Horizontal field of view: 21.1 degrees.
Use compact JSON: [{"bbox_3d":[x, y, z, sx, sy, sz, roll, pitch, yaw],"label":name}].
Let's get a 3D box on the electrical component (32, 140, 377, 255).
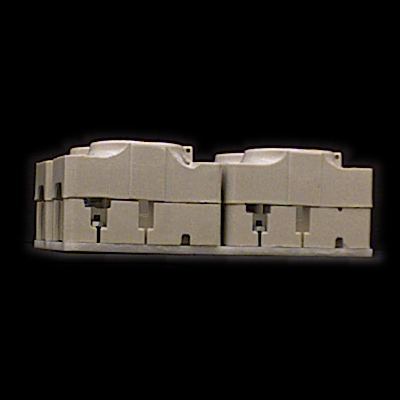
[{"bbox_3d":[0.000,0.000,0.651,0.187,0.060,0.105,2,0,-18],"label":"electrical component"}]
